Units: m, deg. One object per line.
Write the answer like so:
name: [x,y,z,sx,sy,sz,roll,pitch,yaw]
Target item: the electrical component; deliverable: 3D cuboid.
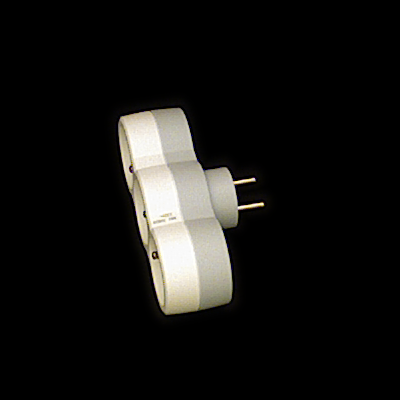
electrical component: [0.000,0.000,0.638,0.074,0.137,0.052,-10,-36,-10]
